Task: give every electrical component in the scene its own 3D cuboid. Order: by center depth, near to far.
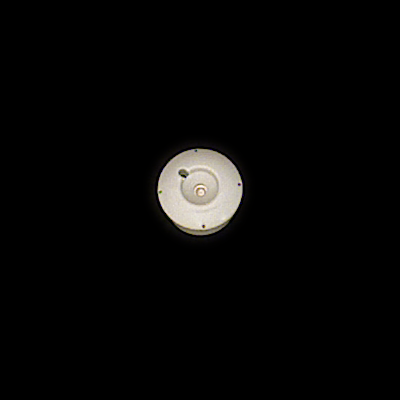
[{"bbox_3d":[0.000,0.000,0.633,0.048,0.048,0.061,0,-16,1],"label":"electrical component"}]
